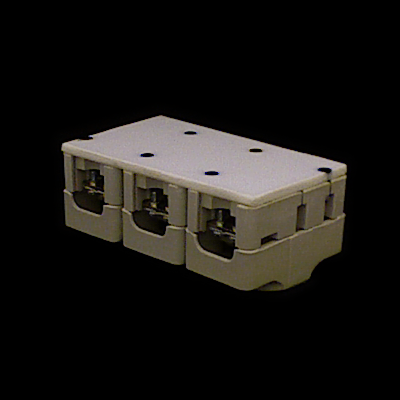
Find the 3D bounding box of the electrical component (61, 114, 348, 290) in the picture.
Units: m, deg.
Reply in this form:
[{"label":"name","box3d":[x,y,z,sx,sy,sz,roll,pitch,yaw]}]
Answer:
[{"label":"electrical component","box3d":[0.000,0.000,0.645,0.149,0.063,0.088,18,27,38]}]
